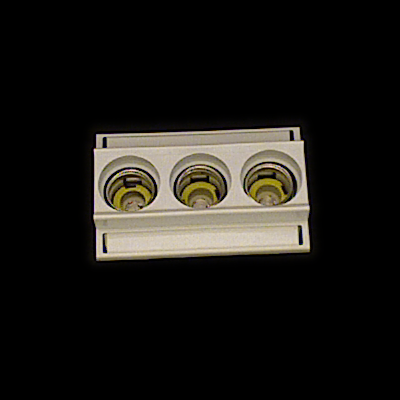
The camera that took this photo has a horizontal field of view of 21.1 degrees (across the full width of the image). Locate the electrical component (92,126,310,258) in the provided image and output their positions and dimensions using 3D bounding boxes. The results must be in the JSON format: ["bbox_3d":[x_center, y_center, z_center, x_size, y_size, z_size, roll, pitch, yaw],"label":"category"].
[{"bbox_3d":[0.000,0.000,0.637,0.121,0.078,0.063,-2,-25,-1],"label":"electrical component"}]
